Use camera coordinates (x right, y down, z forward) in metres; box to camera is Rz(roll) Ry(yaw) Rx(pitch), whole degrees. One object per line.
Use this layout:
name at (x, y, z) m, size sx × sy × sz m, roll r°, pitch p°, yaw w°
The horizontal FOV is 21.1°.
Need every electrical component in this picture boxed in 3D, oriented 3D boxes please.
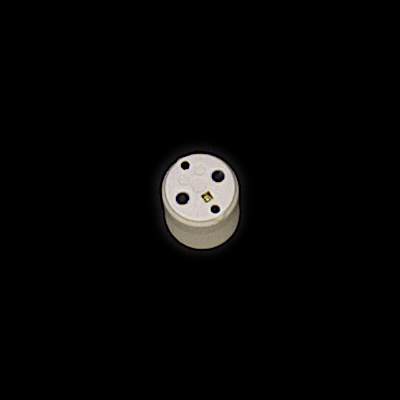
electrical component at (0.000, 0.000, 0.628) m, size 0.045 × 0.045 × 0.055 m, roll 0°, pitch -17°, yaw 1°
